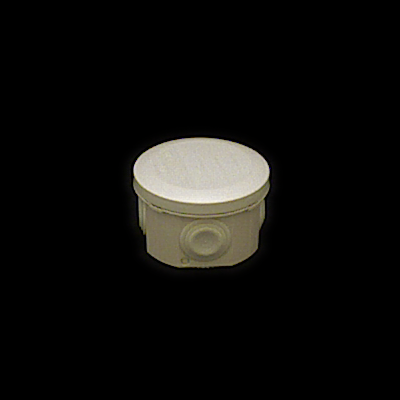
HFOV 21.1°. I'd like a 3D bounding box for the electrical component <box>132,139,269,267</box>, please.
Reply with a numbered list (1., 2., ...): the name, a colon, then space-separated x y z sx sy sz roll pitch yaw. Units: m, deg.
1. electrical component: 0.000 0.000 0.638 0.080 0.051 0.079 1 31 0
